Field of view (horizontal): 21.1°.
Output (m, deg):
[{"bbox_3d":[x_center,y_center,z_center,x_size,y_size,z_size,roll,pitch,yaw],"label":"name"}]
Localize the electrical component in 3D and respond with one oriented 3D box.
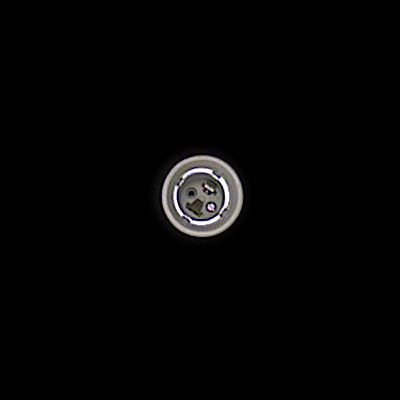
[{"bbox_3d":[0.000,0.000,0.624,0.044,0.044,0.065,0,-6,-1],"label":"electrical component"}]
